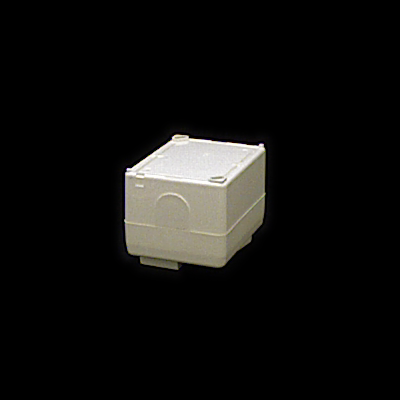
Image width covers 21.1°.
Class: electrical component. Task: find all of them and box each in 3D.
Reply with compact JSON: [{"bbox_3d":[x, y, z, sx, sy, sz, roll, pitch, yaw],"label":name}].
[{"bbox_3d":[0.001,0.000,0.646,0.061,0.062,0.095,8,22,19],"label":"electrical component"}]
